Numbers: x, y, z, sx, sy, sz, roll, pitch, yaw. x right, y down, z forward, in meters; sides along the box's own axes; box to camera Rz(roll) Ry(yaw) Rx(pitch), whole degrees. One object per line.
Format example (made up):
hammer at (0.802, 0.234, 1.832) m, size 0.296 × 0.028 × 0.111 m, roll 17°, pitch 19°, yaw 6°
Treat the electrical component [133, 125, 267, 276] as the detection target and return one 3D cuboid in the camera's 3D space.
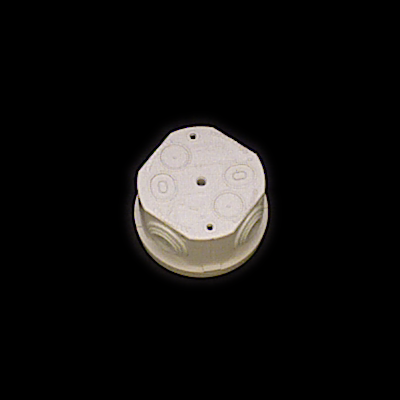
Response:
electrical component at (0.000, 0.000, 0.631) m, size 0.080 × 0.080 × 0.050 m, roll 0°, pitch -27°, yaw 0°
